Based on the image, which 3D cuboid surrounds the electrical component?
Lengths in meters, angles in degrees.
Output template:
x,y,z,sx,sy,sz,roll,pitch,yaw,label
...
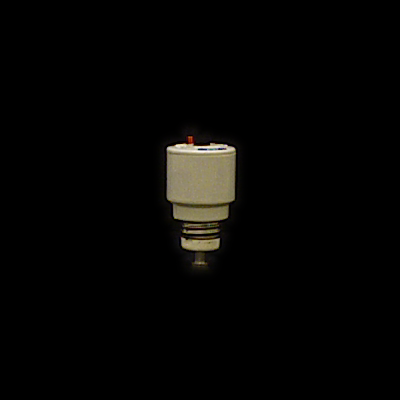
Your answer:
x,y,z,sx,sy,sz,roll,pitch,yaw,label
0.000,0.000,0.645,0.040,0.079,0.040,1,11,0,electrical component
